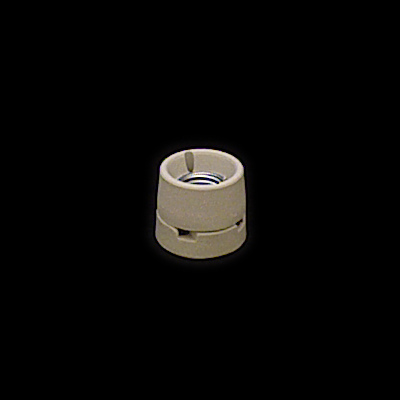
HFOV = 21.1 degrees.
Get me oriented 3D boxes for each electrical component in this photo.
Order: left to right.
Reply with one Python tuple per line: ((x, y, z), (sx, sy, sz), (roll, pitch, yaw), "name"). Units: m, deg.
((0.000, 0.000, 0.639), (0.055, 0.047, 0.055), (1, 30, 0), "electrical component")
